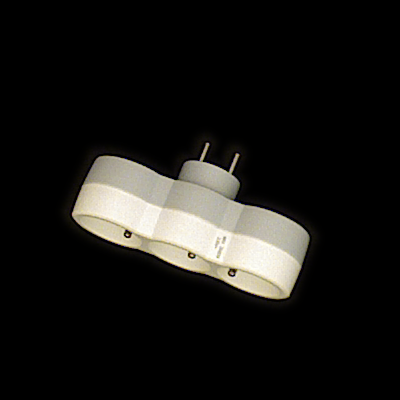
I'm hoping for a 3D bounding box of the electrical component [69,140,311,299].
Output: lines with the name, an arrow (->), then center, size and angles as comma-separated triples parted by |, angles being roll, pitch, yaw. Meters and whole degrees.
electrical component -> 0.000, 0.000, 0.639 | 0.138, 0.074, 0.052 | 20, -17, 6
